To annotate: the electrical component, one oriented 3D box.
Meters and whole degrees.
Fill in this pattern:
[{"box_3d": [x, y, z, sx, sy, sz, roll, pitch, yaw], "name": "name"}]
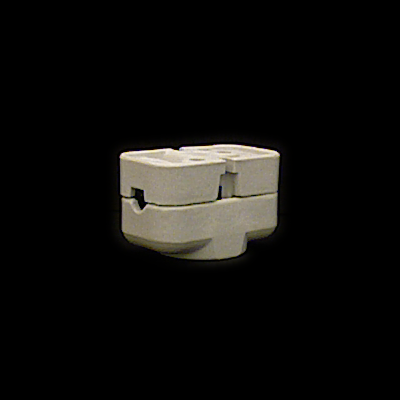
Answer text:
[{"box_3d": [0.000, 0.000, 0.652, 0.096, 0.060, 0.053, -8, 15, -39], "name": "electrical component"}]
